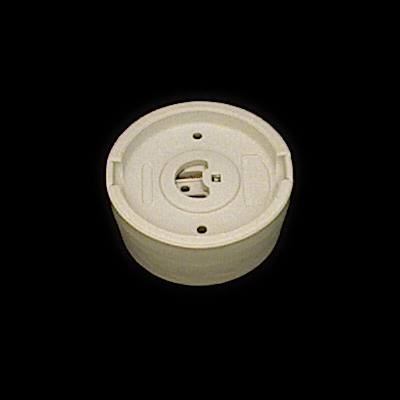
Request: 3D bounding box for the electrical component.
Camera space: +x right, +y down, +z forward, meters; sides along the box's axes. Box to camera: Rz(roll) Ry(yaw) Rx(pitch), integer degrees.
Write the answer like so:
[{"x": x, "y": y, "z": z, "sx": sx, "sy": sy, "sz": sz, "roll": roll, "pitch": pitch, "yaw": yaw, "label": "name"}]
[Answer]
[{"x": 0.000, "y": 0.000, "z": 0.637, "sx": 0.108, "sy": 0.107, "sz": 0.061, "roll": 0, "pitch": -37, "yaw": 0, "label": "electrical component"}]
